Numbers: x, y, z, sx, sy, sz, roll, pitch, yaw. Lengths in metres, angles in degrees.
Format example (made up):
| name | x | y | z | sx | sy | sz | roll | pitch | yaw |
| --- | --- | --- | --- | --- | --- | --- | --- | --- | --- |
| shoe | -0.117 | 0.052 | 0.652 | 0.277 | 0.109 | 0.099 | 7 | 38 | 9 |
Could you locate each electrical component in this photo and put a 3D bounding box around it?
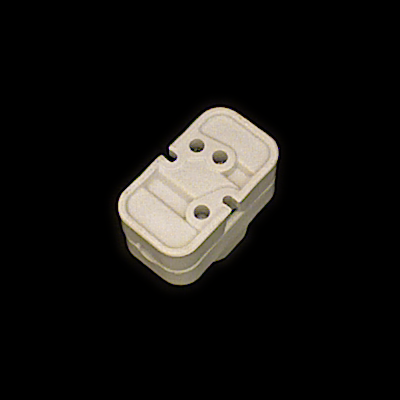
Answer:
| name | x | y | z | sx | sy | sz | roll | pitch | yaw |
| --- | --- | --- | --- | --- | --- | --- | --- | --- | --- |
| electrical component | 0.000 | 0.000 | 0.635 | 0.053 | 0.096 | 0.059 | 37 | -20 | 17 |
